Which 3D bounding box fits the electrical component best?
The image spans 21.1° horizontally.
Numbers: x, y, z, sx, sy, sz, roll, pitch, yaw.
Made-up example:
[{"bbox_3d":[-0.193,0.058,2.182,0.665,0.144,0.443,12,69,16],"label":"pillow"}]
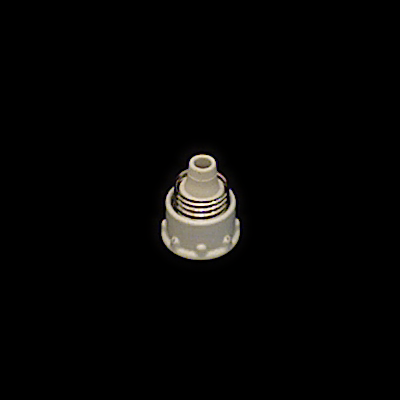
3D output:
[{"bbox_3d":[0.000,0.000,0.639,0.048,0.062,0.047,1,43,-1],"label":"electrical component"}]
